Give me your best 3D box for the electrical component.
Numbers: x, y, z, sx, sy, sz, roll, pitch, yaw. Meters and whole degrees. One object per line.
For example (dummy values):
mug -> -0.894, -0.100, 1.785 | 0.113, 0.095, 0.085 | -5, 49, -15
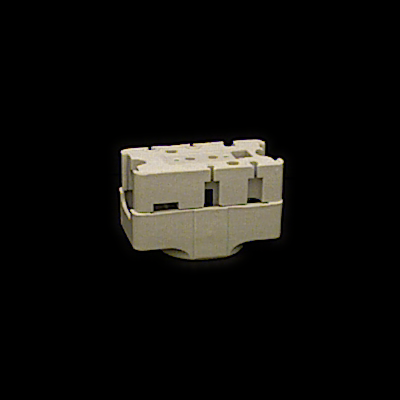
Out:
electrical component -> 0.000, 0.000, 0.647 | 0.090, 0.056, 0.049 | -4, 22, -15
